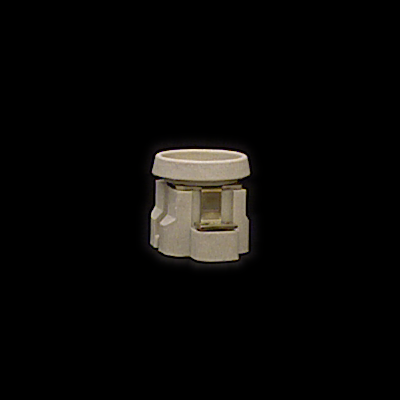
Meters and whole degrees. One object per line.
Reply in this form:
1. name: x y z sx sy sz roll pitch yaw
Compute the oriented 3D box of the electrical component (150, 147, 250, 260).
1. electrical component: 0.000 0.000 0.643 0.058 0.057 0.078 -2 11 -18
